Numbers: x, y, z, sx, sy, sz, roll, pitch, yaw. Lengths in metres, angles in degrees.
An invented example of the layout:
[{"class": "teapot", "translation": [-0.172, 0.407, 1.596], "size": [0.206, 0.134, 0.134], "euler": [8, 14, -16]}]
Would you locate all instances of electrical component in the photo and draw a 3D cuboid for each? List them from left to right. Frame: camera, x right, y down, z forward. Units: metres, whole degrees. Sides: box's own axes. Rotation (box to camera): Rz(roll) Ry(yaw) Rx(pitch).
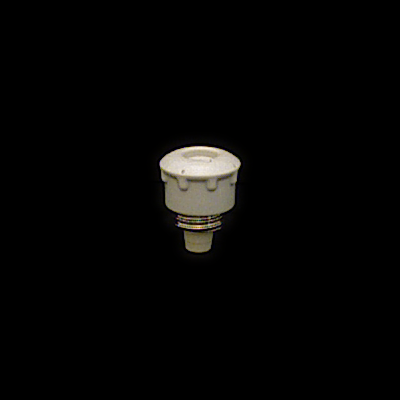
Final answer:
[{"class": "electrical component", "translation": [0.000, 0.000, 0.646], "size": [0.048, 0.063, 0.047], "euler": [1, 22, 0]}]
